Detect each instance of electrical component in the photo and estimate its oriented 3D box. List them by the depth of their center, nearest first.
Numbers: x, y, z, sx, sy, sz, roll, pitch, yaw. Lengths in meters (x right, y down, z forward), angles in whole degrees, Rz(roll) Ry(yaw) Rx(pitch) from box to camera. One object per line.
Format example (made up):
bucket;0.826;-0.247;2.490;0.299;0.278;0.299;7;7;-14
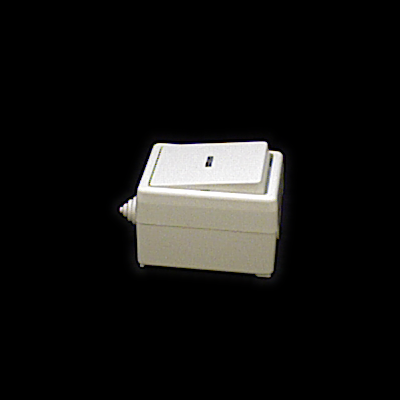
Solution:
electrical component;0.000;0.000;0.635;0.096;0.061;0.061;4;31;6
